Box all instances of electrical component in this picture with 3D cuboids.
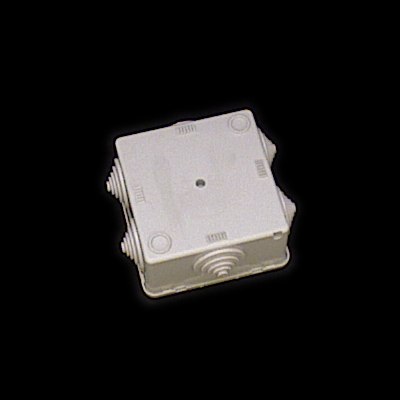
[{"bbox_3d":[0.000,0.000,0.631,0.100,0.100,0.048,-13,-26,-7],"label":"electrical component"}]
